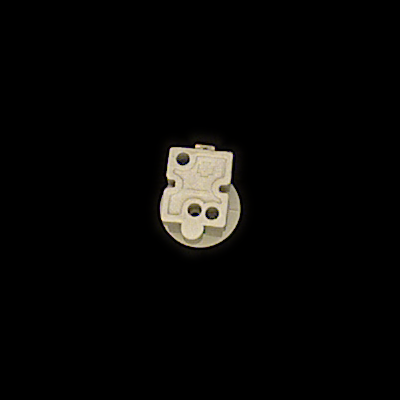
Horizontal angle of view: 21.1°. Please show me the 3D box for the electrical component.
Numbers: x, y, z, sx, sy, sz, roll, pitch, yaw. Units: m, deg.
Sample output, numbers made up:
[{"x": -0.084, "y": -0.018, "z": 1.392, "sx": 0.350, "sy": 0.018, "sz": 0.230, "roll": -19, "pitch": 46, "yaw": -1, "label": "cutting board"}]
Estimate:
[{"x": 0.000, "y": 0.000, "z": 0.637, "sx": 0.048, "sy": 0.067, "sz": 0.055, "roll": 6, "pitch": -17, "yaw": 3, "label": "electrical component"}]
